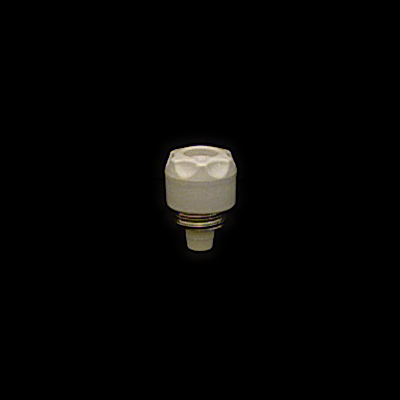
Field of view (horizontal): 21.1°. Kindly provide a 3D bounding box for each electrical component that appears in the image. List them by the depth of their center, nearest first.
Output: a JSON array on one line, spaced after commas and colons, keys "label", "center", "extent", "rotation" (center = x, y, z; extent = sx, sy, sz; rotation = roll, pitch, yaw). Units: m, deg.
[{"label": "electrical component", "center": [0.000, 0.000, 0.646], "extent": [0.043, 0.063, 0.043], "rotation": [1, 21, 0]}]
